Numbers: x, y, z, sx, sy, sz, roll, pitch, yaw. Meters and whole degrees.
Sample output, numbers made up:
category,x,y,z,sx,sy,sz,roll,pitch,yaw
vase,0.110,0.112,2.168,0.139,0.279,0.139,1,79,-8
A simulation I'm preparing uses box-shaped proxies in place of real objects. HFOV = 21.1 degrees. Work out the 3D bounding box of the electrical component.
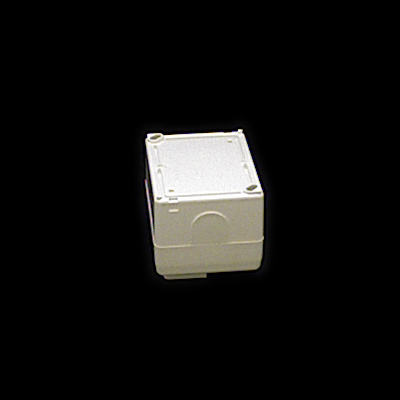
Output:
category,x,y,z,sx,sy,sz,roll,pitch,yaw
electrical component,0.000,0.000,0.640,0.062,0.062,0.095,-3,32,-6
